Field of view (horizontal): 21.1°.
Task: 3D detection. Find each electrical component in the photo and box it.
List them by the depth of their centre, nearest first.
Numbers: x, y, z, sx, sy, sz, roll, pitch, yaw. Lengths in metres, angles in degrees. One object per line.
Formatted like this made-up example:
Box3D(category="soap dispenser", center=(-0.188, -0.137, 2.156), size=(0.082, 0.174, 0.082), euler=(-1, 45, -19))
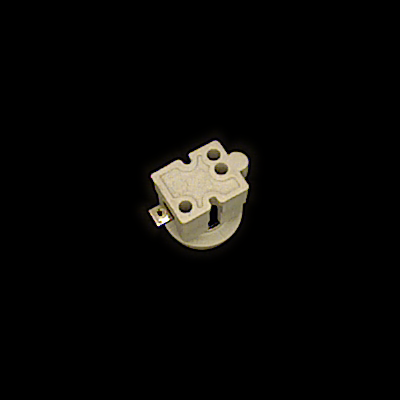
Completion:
Box3D(category="electrical component", center=(0.000, 0.000, 0.638), size=(0.067, 0.048, 0.055), euler=(-28, -22, -12))
